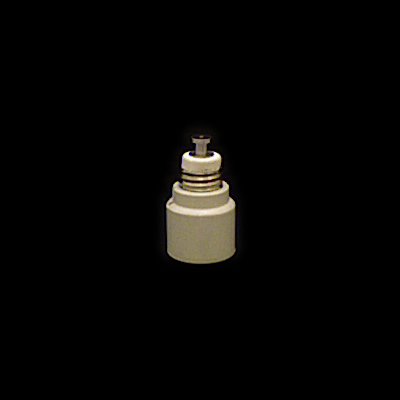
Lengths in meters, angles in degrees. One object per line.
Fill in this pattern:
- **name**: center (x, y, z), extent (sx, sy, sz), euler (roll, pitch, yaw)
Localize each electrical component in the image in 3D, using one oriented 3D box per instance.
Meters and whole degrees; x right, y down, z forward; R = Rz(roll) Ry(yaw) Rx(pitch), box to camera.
- **electrical component**: center (0.000, 0.000, 0.636), extent (0.040, 0.079, 0.039), euler (0, 22, 0)
